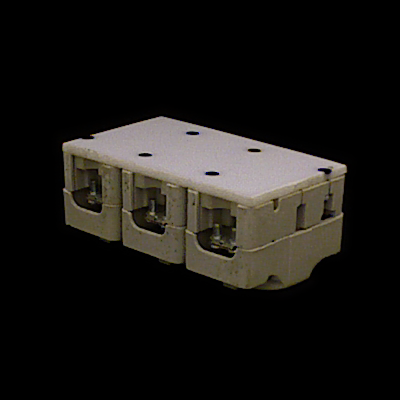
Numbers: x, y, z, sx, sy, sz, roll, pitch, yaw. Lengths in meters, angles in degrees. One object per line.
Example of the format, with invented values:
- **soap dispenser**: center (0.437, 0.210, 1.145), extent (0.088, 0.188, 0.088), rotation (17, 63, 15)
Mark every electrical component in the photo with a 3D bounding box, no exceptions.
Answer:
- **electrical component**: center (0.000, 0.000, 0.645), extent (0.148, 0.063, 0.089), rotation (18, 26, 39)
